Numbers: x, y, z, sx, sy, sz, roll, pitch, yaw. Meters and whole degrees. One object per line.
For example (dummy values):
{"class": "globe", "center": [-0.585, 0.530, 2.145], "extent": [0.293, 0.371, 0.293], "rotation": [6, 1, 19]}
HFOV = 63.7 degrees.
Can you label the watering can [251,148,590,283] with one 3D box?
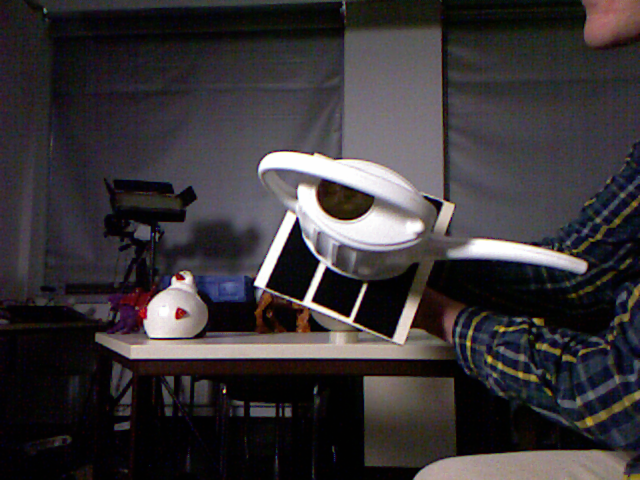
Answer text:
{"class": "watering can", "center": [0.086, -0.006, 0.582], "extent": [0.351, 0.106, 0.223], "rotation": [21, -17, 6]}
